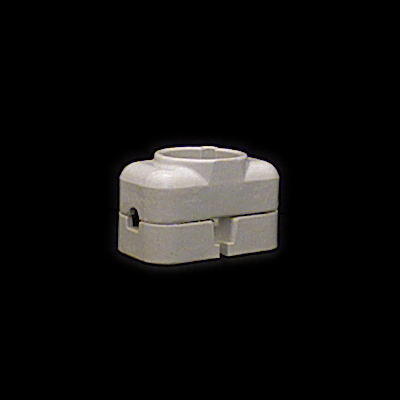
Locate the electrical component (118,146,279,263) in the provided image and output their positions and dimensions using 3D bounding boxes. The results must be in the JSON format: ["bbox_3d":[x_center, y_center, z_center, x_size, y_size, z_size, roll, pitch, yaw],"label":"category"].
[{"bbox_3d":[0.000,0.000,0.652,0.096,0.060,0.053,-6,14,-35],"label":"electrical component"}]
